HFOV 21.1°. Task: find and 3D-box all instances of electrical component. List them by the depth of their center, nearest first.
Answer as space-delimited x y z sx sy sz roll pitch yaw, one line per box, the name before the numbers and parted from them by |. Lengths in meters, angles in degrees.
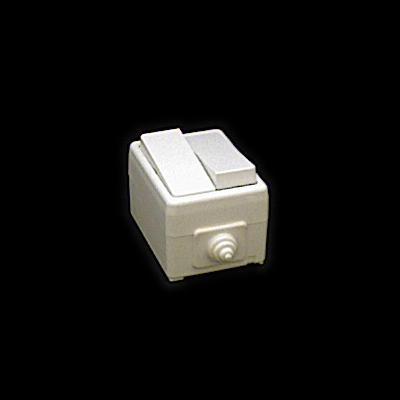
electrical component | 0.000 0.000 0.632 0.062 0.061 0.095 -10 33 -17
